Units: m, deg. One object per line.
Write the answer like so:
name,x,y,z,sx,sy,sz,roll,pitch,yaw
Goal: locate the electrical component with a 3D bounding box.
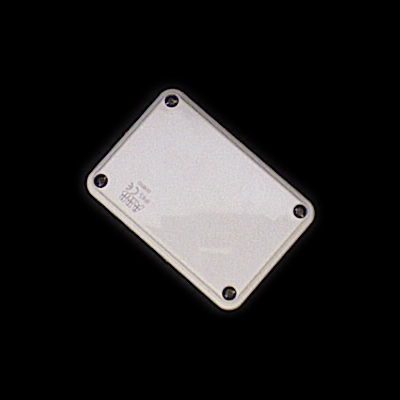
electrical component,0.000,0.000,0.627,0.113,0.078,0.057,41,-5,4
